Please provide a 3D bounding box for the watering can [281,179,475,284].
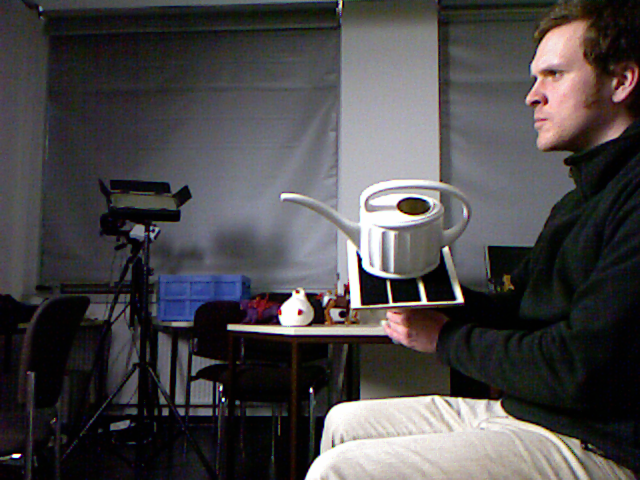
[{"bbox_3d":[0.109,-0.019,0.964,0.349,0.219,0.107,-1,40,2],"label":"watering can"}]
